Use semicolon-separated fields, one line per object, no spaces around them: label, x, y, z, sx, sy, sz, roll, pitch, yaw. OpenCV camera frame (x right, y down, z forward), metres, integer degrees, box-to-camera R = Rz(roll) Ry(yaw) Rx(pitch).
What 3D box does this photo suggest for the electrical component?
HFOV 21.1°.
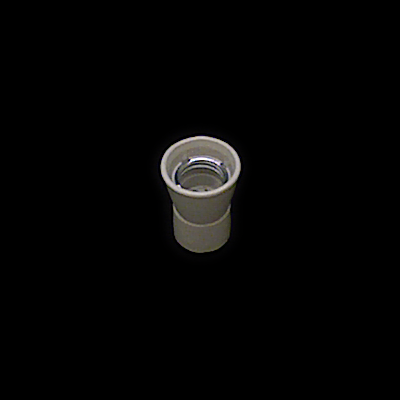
electrical component;0.000;0.000;0.627;0.044;0.044;0.065;0;-38;1
